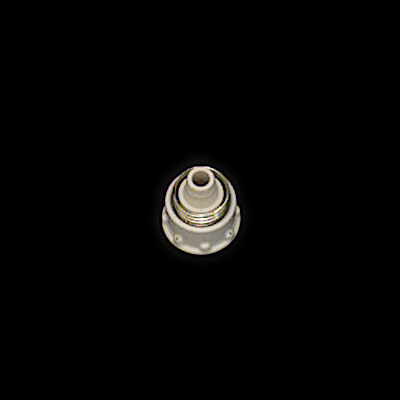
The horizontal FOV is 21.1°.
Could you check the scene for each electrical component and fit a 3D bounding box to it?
[{"bbox_3d":[0.000,0.000,0.633,0.048,0.048,0.062,0,-26,0],"label":"electrical component"}]
